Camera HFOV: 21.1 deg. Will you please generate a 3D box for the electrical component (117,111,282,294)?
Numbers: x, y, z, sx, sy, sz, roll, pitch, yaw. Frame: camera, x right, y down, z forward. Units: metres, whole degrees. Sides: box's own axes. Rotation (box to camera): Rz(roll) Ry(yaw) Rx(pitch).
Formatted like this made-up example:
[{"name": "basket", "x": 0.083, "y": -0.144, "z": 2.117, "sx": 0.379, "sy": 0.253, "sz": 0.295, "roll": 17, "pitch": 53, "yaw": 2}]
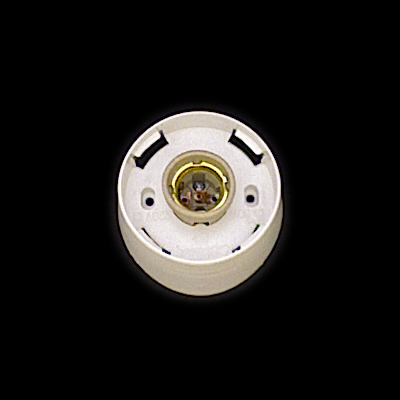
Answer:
[{"name": "electrical component", "x": 0.000, "y": 0.000, "z": 0.625, "sx": 0.099, "sy": 0.099, "sz": 0.064, "roll": 0, "pitch": -16, "yaw": 0}]
